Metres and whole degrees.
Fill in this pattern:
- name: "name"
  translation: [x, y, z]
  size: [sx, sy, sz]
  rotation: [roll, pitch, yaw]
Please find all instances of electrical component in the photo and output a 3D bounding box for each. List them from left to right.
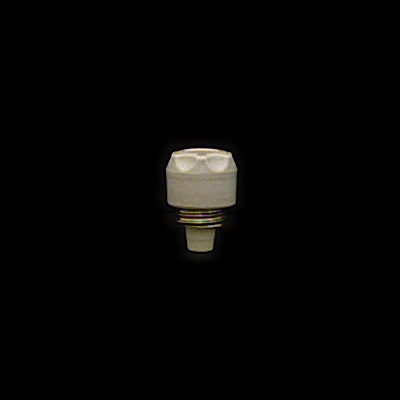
- name: "electrical component"
  translation: [0.000, 0.000, 0.652]
  size: [0.043, 0.062, 0.043]
  rotation: [1, 11, 0]
